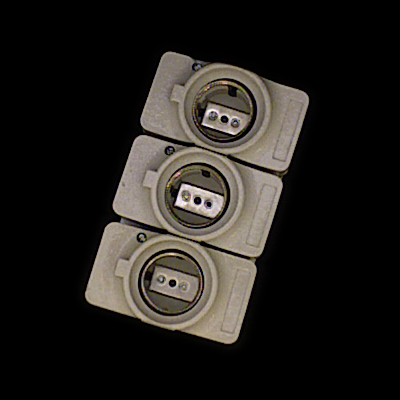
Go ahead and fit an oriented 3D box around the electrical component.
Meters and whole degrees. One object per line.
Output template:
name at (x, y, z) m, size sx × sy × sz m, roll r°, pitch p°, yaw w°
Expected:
electrical component at (0.000, 0.000, 0.632) m, size 0.089 × 0.150 × 0.061 m, roll 17°, pitch -6°, yaw 2°
